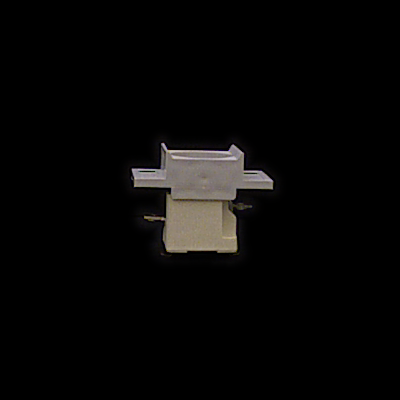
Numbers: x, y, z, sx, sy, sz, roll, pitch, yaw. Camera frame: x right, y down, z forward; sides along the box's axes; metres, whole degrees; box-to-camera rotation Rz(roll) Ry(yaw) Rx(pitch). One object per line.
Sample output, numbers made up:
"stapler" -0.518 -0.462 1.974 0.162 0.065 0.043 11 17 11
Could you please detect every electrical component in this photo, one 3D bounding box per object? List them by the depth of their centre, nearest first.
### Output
"electrical component" 0.000 0.000 0.643 0.081 0.064 0.042 1 12 -6
